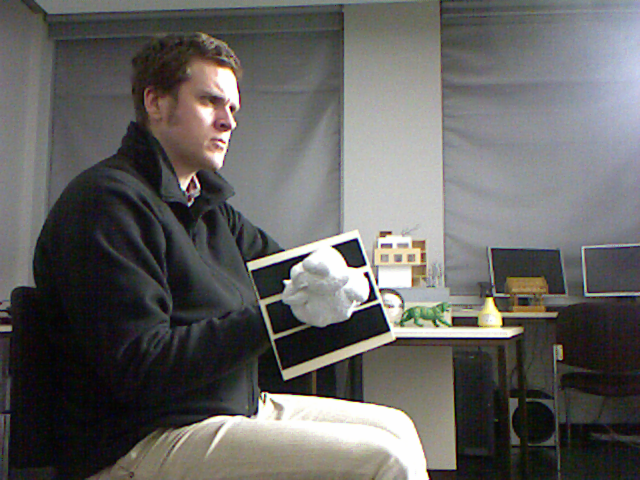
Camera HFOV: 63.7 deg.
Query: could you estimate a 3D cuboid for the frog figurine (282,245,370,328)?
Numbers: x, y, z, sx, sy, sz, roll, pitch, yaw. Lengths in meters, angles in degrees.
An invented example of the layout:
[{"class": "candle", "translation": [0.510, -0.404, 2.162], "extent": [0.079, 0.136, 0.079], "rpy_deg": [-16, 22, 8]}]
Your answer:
[{"class": "frog figurine", "translation": [0.011, 0.074, 0.790], "extent": [0.138, 0.124, 0.159], "rpy_deg": [6, -9, -7]}]
